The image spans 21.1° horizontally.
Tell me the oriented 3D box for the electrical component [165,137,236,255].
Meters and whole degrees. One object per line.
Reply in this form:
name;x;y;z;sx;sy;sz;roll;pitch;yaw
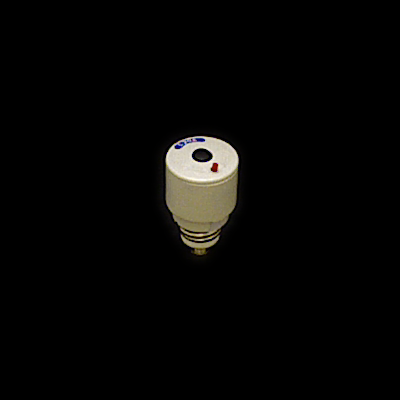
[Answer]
electrical component;0.000;0.000;0.622;0.040;0.079;0.039;1;42;0
